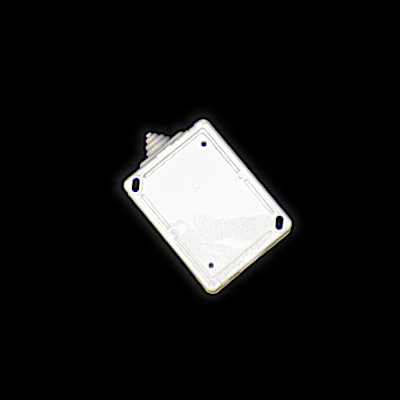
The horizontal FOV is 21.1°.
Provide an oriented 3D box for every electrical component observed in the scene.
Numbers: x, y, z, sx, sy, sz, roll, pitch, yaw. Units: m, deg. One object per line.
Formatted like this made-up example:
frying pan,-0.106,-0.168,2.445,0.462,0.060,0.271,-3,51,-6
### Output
electrical component,0.000,0.000,0.627,0.062,0.096,0.061,-39,-5,-3
